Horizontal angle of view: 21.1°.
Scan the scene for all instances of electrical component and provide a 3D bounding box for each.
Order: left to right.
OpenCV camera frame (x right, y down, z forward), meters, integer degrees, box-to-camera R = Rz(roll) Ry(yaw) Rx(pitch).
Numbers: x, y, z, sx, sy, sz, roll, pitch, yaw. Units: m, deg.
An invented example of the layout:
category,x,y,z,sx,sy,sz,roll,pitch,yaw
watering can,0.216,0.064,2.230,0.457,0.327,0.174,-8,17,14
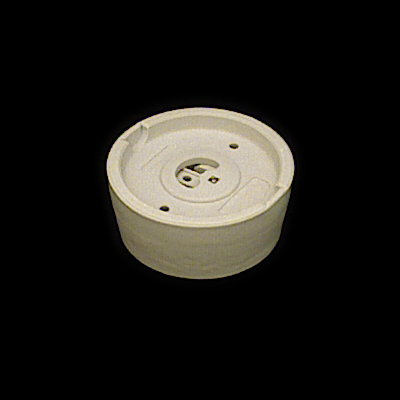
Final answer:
category,x,y,z,sx,sy,sz,roll,pitch,yaw
electrical component,0.000,0.000,0.638,0.108,0.061,0.107,0,42,0
